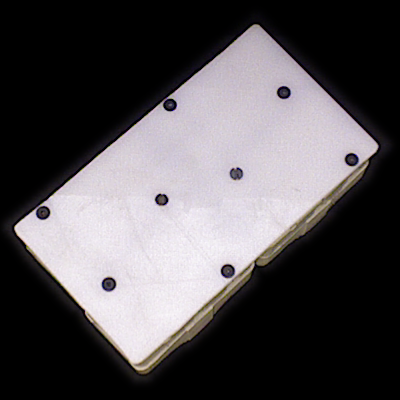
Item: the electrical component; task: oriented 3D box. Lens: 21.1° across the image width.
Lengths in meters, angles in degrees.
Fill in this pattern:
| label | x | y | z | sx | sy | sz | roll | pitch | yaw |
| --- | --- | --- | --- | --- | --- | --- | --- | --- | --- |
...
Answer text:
| label | x | y | z | sx | sy | sz | roll | pitch | yaw |
| --- | --- | --- | --- | --- | --- | --- | --- | --- | --- |
| electrical component | 0.000 | 0.000 | 0.625 | 0.187 | 0.105 | 0.060 | -41 | -12 | -12 |
